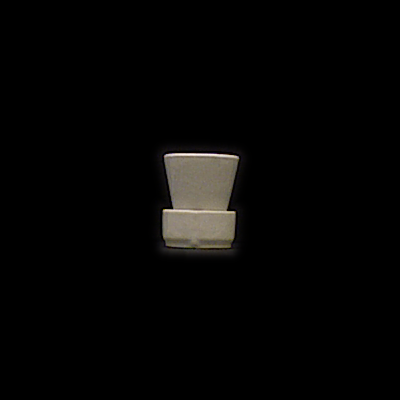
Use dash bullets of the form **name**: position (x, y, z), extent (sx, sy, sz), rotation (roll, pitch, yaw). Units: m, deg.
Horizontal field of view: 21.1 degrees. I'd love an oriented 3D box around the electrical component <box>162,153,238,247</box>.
- **electrical component**: position (0.000, 0.000, 0.651), extent (0.045, 0.055, 0.044), rotation (2, 1, 0)
